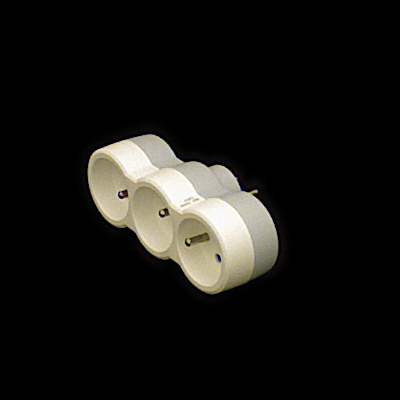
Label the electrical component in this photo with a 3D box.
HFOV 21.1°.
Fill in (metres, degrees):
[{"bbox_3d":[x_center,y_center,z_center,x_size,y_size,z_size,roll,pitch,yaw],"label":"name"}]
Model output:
[{"bbox_3d":[0.000,0.000,0.644,0.074,0.053,0.136,-22,39,-34],"label":"electrical component"}]
